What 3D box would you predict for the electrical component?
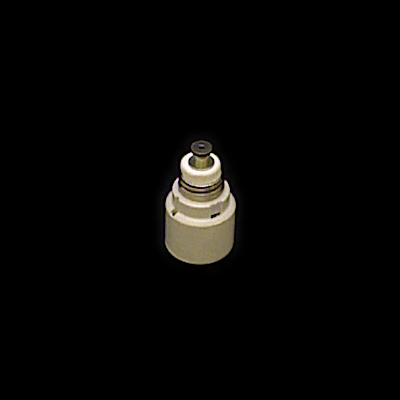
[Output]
[{"bbox_3d":[0.000,0.000,0.624,0.040,0.079,0.039,1,41,0],"label":"electrical component"}]
